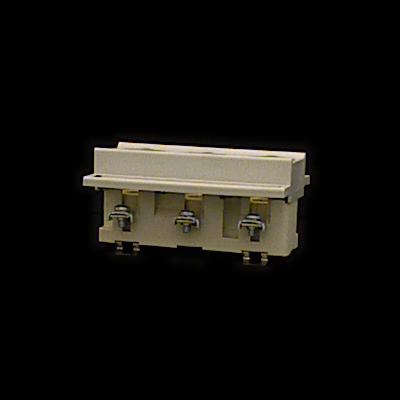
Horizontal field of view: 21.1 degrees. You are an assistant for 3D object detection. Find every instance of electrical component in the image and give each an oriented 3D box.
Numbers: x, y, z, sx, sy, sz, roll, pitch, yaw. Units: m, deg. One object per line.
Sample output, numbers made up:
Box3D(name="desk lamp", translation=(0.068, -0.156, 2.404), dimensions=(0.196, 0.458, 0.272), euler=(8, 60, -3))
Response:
Box3D(name="electrical component", translation=(0.000, 0.000, 0.658), dimensions=(0.121, 0.063, 0.078), euler=(4, 10, 16))
